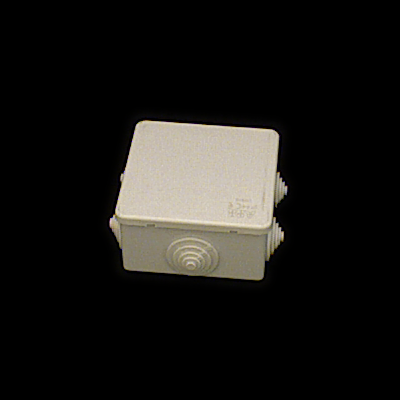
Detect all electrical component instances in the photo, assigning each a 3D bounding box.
[{"bbox_3d":[0.000,0.000,0.642,0.099,0.049,0.099,5,43,4],"label":"electrical component"}]
